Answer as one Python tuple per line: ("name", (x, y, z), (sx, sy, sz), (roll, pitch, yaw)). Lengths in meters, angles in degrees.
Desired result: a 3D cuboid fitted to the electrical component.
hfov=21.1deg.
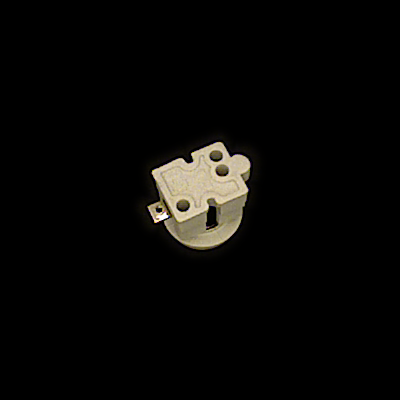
("electrical component", (0.000, 0.000, 0.638), (0.067, 0.048, 0.055), (-23, -23, -10))
